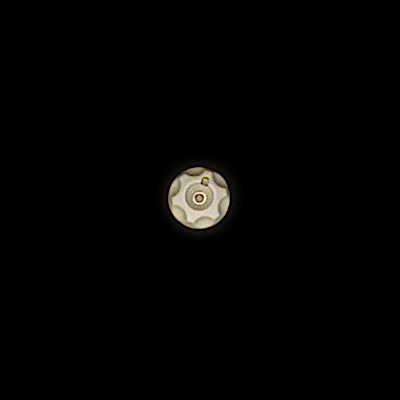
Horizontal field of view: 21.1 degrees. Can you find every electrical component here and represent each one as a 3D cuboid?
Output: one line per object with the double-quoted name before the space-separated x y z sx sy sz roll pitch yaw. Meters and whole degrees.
"electrical component" 0.000 0.000 0.635 0.035 0.035 0.061 0 -6 0
